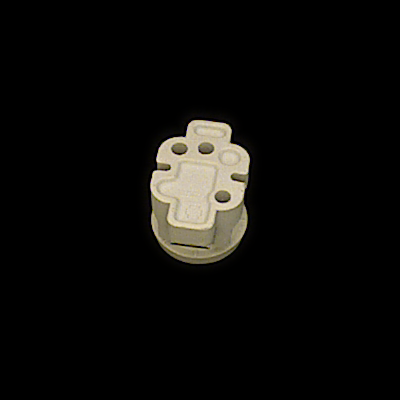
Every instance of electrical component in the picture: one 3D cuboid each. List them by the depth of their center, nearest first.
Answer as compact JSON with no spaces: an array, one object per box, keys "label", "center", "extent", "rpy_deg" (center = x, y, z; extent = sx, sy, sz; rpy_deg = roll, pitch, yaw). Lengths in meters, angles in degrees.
[{"label":"electrical component","center":[0.000,0.000,0.636],"extent":[0.058,0.078,0.057],"rpy_deg":[7,-35,4]}]
